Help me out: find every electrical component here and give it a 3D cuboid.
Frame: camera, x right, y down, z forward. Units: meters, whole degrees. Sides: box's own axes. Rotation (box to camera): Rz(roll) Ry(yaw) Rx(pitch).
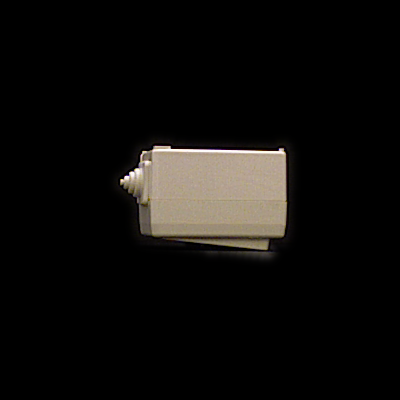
[{"bbox_3d":[0.000,0.000,0.652,0.096,0.061,0.061,1,1,-11],"label":"electrical component"}]
